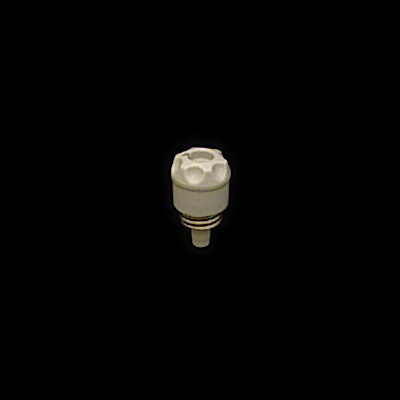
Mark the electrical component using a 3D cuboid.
[{"bbox_3d":[0.000,0.000,0.642,0.035,0.062,0.034,1,32,0],"label":"electrical component"}]
